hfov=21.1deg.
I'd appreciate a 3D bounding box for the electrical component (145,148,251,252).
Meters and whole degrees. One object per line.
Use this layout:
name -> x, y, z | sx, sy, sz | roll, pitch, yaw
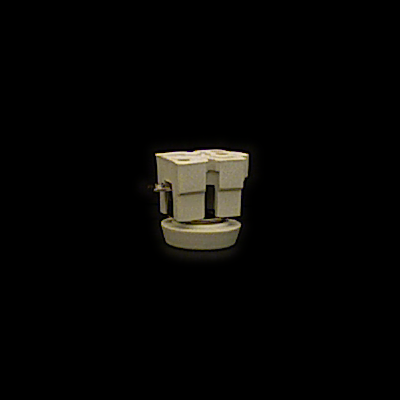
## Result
electrical component -> 0.000, 0.000, 0.653 | 0.067, 0.056, 0.048 | -5, 15, -24
